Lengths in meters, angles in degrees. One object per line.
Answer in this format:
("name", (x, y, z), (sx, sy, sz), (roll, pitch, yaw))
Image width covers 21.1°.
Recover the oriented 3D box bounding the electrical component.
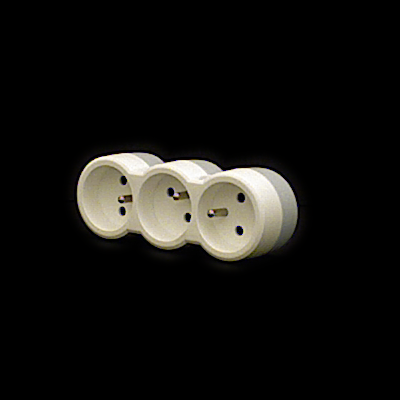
("electrical component", (0.000, 0.000, 0.653), (0.137, 0.052, 0.074), (9, 12, 34))
